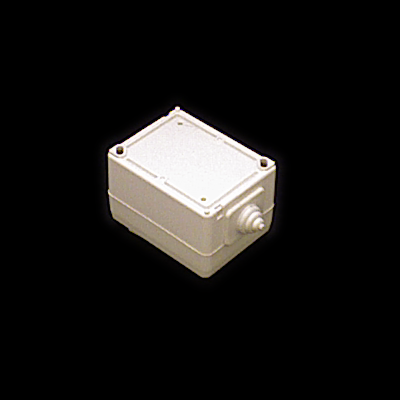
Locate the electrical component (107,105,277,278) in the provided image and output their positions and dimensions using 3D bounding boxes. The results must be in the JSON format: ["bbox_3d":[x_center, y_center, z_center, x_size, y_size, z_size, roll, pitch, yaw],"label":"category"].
[{"bbox_3d":[0.000,0.000,0.629,0.096,0.061,0.061,32,51,29],"label":"electrical component"}]
